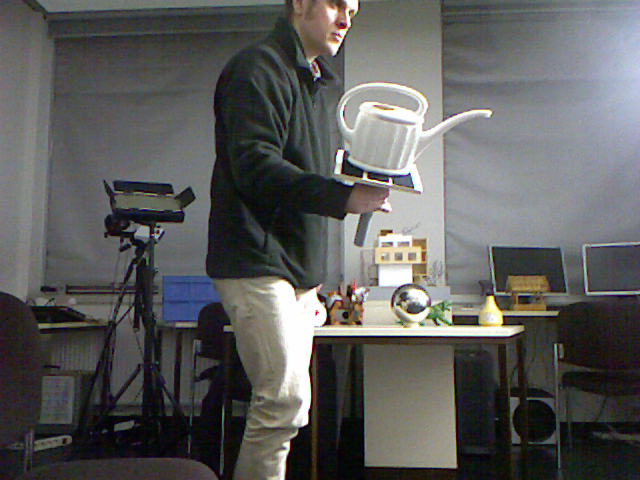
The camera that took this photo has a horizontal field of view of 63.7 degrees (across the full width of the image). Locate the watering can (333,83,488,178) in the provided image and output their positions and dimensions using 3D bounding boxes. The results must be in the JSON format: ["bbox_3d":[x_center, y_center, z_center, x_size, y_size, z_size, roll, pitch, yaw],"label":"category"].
[{"bbox_3d":[0.196,-0.243,1.207,0.349,0.220,0.106,12,30,-1],"label":"watering can"}]
